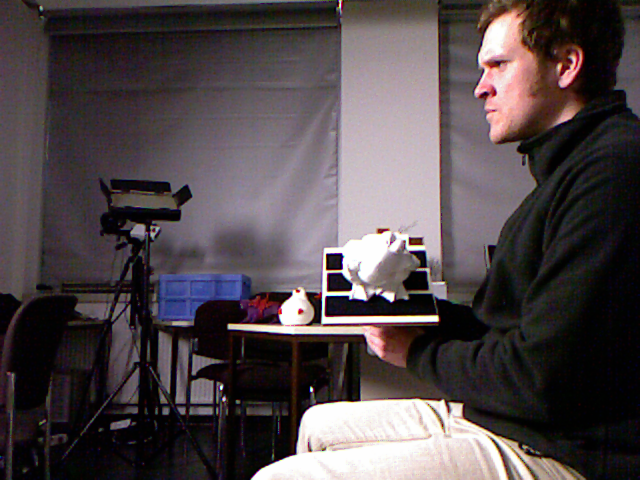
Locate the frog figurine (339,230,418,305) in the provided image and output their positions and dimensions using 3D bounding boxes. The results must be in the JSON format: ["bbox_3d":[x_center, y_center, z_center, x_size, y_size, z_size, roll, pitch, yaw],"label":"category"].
[{"bbox_3d":[0.103,0.031,0.906,0.138,0.156,0.126,11,43,13],"label":"frog figurine"}]
